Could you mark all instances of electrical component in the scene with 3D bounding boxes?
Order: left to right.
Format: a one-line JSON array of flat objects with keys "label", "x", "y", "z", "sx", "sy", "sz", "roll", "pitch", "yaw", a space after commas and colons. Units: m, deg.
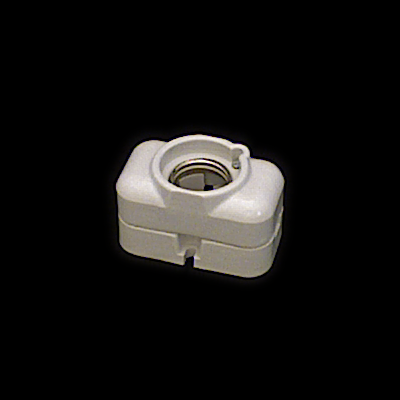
[{"label": "electrical component", "x": 0.000, "y": 0.000, "z": 0.639, "sx": 0.095, "sy": 0.060, "sz": 0.053, "roll": 11, "pitch": 44, "yaw": 10}]
